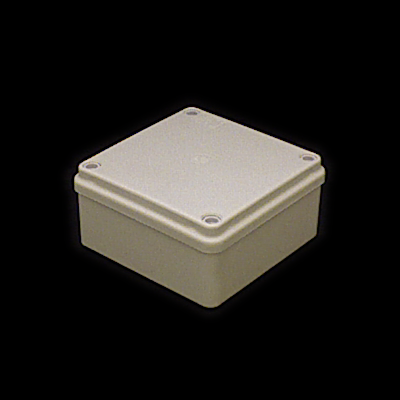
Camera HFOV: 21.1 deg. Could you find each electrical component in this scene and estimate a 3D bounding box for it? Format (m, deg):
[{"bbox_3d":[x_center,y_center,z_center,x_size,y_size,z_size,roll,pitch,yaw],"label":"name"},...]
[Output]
[{"bbox_3d":[0.000,0.000,0.634,0.108,0.057,0.108,24,39,33],"label":"electrical component"}]
